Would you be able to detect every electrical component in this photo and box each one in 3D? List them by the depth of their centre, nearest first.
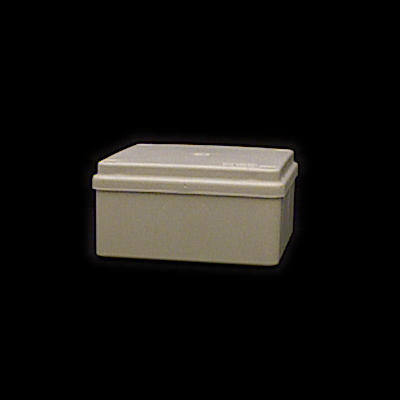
[{"bbox_3d":[0.000,0.000,0.646,0.108,0.056,0.108,3,10,9],"label":"electrical component"}]
